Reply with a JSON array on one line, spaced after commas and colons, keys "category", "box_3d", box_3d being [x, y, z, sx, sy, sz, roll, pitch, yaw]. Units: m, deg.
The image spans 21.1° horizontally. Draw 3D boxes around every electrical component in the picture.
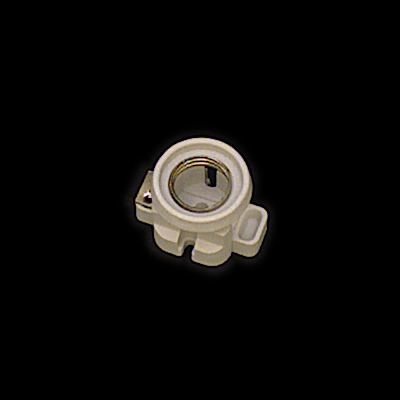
[{"category": "electrical component", "box_3d": [0.000, 0.000, 0.628, 0.078, 0.058, 0.057, 18, -25, 9]}]
